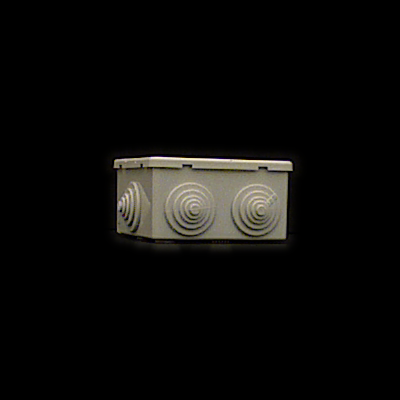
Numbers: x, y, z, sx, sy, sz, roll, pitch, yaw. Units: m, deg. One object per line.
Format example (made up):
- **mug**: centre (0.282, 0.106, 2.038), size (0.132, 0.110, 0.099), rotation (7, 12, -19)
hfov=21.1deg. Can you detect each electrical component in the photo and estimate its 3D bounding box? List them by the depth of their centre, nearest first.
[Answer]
- **electrical component**: centre (0.000, 0.000, 0.658), size (0.100, 0.048, 0.099), rotation (1, 1, -20)
